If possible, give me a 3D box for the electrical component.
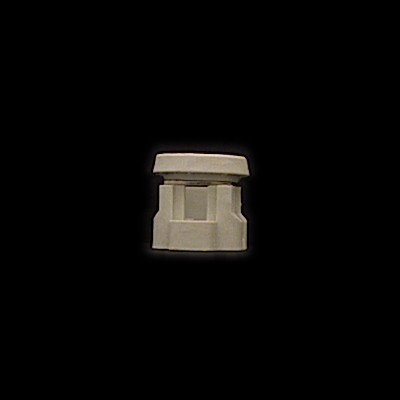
[{"bbox_3d":[0.000,0.000,0.652,0.058,0.057,0.078,1,0,10],"label":"electrical component"}]
